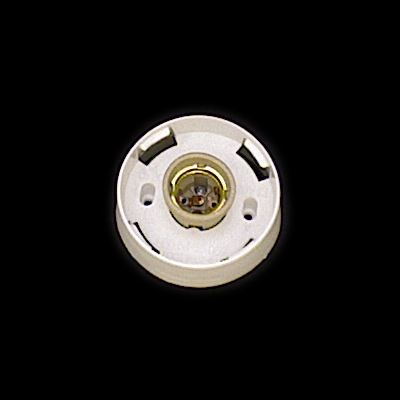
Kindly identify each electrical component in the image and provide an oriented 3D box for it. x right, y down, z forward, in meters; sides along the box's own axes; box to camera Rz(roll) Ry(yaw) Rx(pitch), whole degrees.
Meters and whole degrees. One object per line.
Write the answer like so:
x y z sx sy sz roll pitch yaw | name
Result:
0.000 0.000 0.625 0.099 0.099 0.064 0 -17 0 | electrical component
